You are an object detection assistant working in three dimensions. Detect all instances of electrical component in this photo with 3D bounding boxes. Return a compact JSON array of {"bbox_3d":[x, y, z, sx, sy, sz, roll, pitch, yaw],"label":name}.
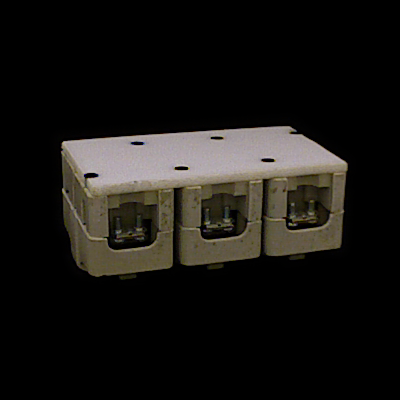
[{"bbox_3d":[0.000,0.000,0.642,0.150,0.063,0.088,-6,21,-17],"label":"electrical component"}]
